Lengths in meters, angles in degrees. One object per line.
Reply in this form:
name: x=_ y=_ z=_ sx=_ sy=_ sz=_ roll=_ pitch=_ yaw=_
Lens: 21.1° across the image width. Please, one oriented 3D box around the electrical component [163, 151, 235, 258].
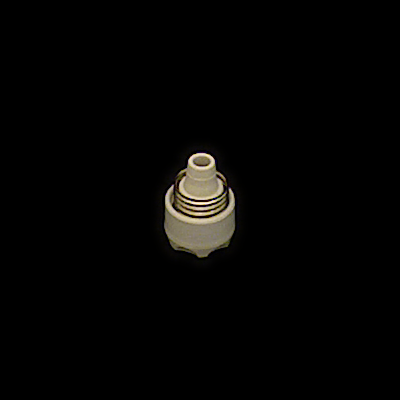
electrical component: x=0.000 y=0.000 z=0.638 sx=0.043 sy=0.062 sz=0.043 roll=1 pitch=42 yaw=-1
